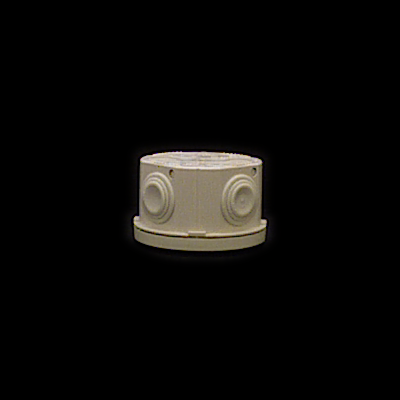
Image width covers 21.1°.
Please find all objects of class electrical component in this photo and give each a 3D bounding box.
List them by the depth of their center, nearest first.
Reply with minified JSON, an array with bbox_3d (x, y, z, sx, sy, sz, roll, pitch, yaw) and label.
[{"bbox_3d":[0.000,0.000,0.647,0.080,0.051,0.079,1,10,0],"label":"electrical component"}]
